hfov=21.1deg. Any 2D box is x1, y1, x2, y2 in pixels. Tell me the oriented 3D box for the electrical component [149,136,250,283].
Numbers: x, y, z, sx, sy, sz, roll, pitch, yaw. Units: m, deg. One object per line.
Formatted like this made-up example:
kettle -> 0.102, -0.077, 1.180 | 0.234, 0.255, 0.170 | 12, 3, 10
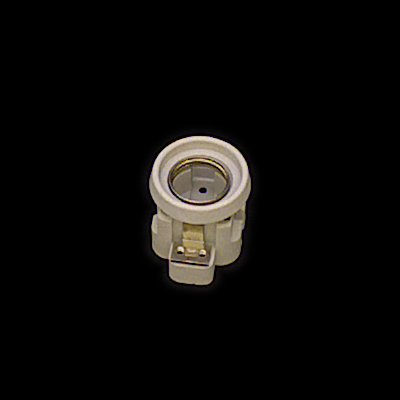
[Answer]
electrical component -> 0.000, 0.000, 0.628 | 0.058, 0.078, 0.057 | 7, -37, 4
